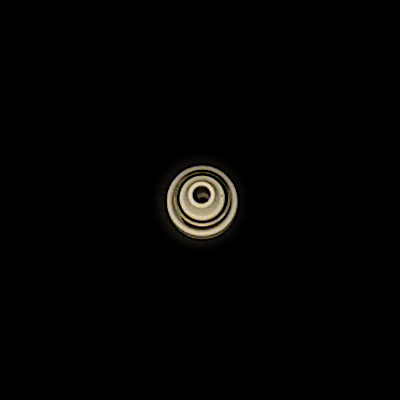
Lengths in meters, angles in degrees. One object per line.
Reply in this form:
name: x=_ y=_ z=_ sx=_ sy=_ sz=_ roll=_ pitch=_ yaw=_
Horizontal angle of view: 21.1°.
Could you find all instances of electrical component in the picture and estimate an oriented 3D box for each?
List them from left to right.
electrical component: x=0.000 y=0.000 z=0.635 sx=0.043 sy=0.043 sz=0.062 roll=0 pitch=-6 yaw=1
